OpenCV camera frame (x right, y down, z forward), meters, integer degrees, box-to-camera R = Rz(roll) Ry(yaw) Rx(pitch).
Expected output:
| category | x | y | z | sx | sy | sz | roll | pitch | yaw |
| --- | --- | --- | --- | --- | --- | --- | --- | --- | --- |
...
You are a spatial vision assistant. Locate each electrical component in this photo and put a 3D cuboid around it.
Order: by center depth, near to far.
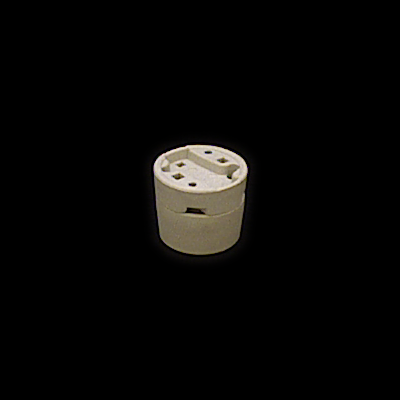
| category | x | y | z | sx | sy | sz | roll | pitch | yaw |
| --- | --- | --- | --- | --- | --- | --- | --- | --- | --- |
| electrical component | 0.000 | 0.000 | 0.638 | 0.055 | 0.047 | 0.055 | 1 | 31 | 0 |
